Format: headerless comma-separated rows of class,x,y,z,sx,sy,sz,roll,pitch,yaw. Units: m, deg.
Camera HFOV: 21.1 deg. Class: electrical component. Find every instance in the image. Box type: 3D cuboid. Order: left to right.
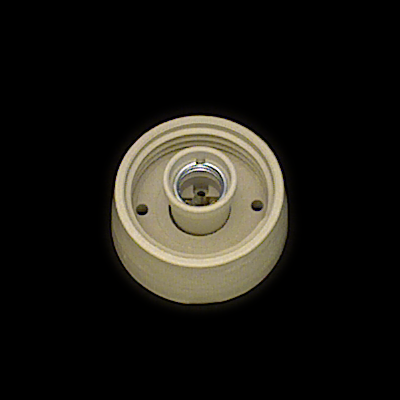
electrical component,0.000,0.000,0.633,0.108,0.108,0.060,0,-27,-1
